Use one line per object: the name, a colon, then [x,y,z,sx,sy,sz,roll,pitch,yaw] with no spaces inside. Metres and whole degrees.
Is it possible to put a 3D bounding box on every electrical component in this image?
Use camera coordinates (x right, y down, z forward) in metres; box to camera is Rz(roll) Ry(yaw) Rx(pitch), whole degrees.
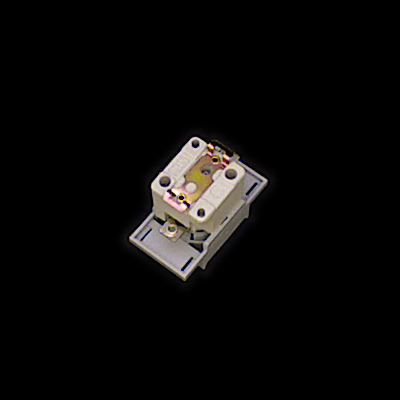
electrical component: [0.000,0.000,0.625,0.042,0.081,0.063,34,-23,16]
